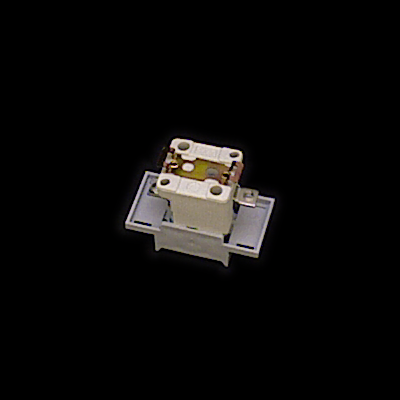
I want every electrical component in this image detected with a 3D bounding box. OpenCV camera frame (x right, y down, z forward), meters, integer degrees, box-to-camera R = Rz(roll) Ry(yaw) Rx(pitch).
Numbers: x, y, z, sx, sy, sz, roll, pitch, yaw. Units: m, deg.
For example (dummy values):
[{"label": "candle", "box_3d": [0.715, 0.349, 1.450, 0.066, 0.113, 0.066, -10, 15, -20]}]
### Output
[{"label": "electrical component", "box_3d": [0.000, 0.000, 0.627, 0.081, 0.042, 0.064, 12, -36, 9]}]
